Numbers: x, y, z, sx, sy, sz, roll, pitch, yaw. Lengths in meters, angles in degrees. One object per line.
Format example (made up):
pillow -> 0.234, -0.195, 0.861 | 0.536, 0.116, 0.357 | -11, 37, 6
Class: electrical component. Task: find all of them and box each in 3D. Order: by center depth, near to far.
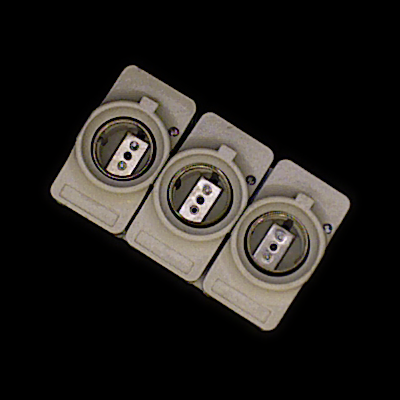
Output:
electrical component -> 0.000, 0.000, 0.632 | 0.150, 0.089, 0.061 | 32, -6, 3
